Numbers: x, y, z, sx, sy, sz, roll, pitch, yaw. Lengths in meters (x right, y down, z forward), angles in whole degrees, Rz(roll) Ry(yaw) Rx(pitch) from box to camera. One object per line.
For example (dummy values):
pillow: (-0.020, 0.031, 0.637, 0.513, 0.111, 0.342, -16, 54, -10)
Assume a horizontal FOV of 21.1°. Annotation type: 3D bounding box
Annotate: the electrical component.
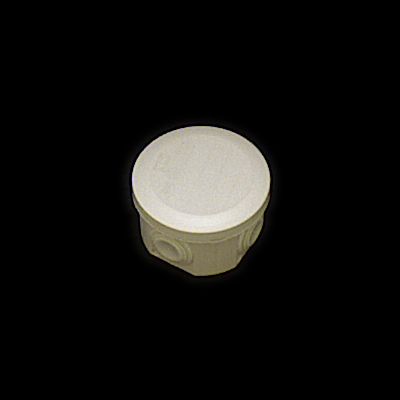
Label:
electrical component: (0.000, 0.000, 0.633, 0.080, 0.080, 0.051, 0, -38, -1)
